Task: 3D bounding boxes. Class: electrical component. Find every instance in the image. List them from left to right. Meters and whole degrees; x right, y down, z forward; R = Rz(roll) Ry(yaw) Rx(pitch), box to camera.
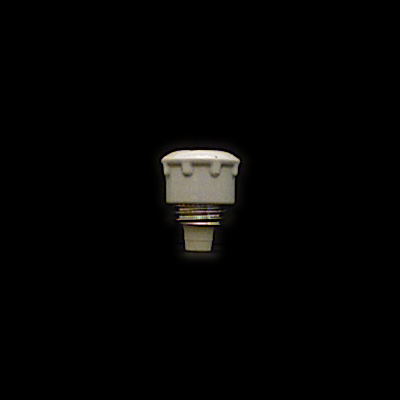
[{"bbox_3d":[0.000,0.000,0.656,0.048,0.062,0.048,1,2,0],"label":"electrical component"}]
